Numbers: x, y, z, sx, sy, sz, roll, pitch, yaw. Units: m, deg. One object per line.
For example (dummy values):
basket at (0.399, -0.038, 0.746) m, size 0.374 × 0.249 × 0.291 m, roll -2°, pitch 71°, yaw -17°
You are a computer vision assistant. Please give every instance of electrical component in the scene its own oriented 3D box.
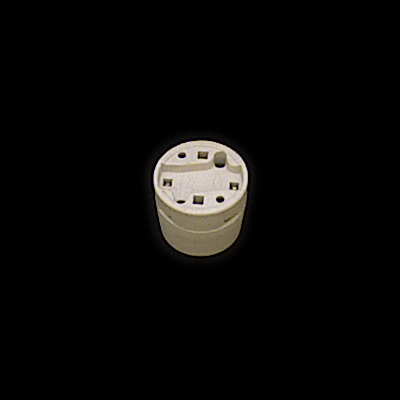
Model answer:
electrical component at (0.000, 0.000, 0.634) m, size 0.055 × 0.055 × 0.047 m, roll 0°, pitch -38°, yaw -1°
